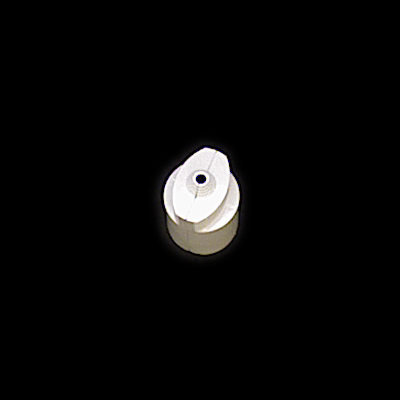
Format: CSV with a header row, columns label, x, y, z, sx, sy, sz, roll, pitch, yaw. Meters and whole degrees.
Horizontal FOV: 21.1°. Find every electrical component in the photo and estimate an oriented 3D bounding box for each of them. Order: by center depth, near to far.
label,x,y,z,sx,sy,sz,roll,pitch,yaw
electrical component,0.000,0.000,0.616,0.043,0.043,0.080,0,-17,0
